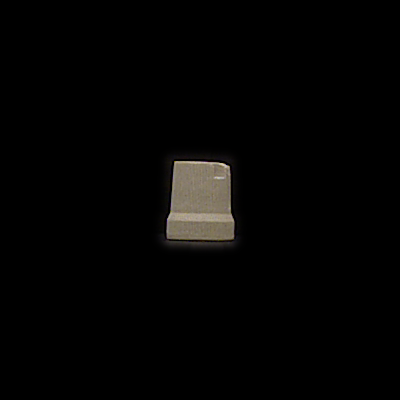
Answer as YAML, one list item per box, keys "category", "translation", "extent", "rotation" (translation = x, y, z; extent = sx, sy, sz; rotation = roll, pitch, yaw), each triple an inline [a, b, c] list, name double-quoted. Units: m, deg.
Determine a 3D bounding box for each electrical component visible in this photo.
- category: "electrical component"
  translation: [0.000, 0.000, 0.649]
  extent: [0.040, 0.046, 0.040]
  rotation: [1, 2, 0]
